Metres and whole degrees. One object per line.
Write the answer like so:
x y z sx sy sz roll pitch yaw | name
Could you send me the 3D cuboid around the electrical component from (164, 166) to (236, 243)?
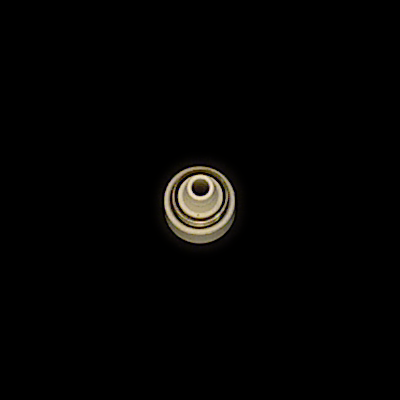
0.000 0.000 0.633 0.043 0.043 0.061 0 -15 -1 | electrical component
